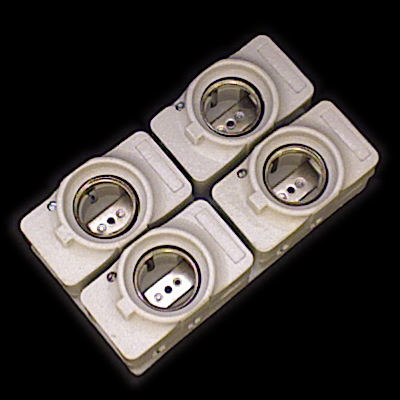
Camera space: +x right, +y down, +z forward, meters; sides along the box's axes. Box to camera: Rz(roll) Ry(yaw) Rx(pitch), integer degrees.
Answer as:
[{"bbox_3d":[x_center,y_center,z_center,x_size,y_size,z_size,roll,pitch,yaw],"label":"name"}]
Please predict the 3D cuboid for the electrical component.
[{"bbox_3d":[0.000,0.000,0.625,0.187,0.106,0.060,-39,-13,-11],"label":"electrical component"}]
